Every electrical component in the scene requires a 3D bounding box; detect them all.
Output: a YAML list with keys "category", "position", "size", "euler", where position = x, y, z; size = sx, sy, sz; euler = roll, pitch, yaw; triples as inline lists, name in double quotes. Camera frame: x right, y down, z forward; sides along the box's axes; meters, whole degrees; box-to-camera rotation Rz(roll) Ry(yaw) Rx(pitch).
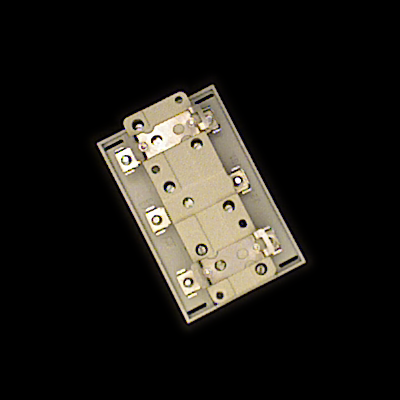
- category: "electrical component"
  position: [0.000, 0.000, 0.635]
  size: [0.079, 0.121, 0.063]
  euler: [-27, -5, -3]
